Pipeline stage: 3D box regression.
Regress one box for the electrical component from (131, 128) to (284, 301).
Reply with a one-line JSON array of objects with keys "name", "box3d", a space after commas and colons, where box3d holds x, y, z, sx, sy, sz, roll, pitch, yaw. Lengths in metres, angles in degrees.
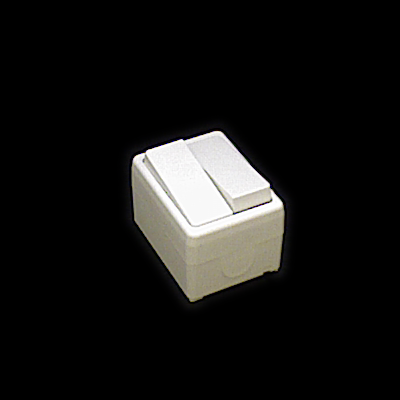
[{"name": "electrical component", "box3d": [0.000, 0.000, 0.632, 0.062, 0.061, 0.095, -18, 45, -20]}]
